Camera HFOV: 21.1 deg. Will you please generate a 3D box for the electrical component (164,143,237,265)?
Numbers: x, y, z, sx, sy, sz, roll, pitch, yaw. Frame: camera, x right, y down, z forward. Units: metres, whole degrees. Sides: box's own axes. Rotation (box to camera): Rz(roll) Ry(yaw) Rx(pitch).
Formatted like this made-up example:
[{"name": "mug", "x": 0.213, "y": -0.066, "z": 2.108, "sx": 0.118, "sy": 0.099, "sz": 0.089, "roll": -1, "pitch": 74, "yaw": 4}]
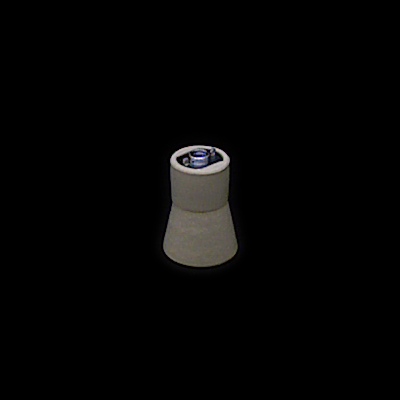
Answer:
[{"name": "electrical component", "x": 0.000, "y": 0.000, "z": 0.635, "sx": 0.044, "sy": 0.066, "sz": 0.044, "roll": 0, "pitch": 31, "yaw": 0}]
